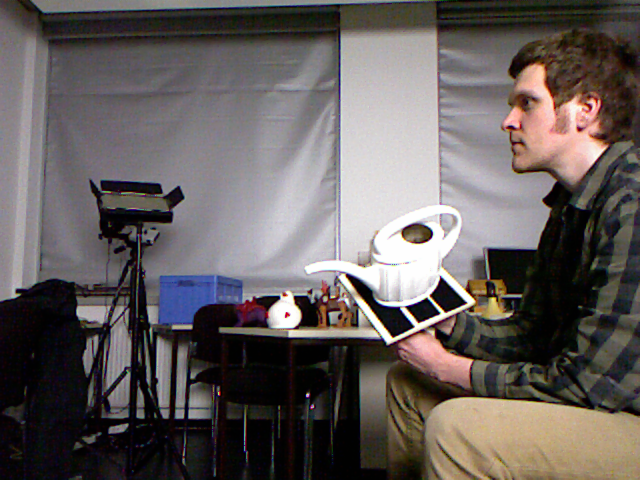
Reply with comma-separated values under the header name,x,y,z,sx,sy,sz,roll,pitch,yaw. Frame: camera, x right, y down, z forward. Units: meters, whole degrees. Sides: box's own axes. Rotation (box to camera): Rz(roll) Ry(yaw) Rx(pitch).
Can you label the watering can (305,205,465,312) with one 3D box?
name,x,y,z,sx,sy,sz,roll,pitch,yaw
watering can,0.133,0.050,0.994,0.351,0.219,0.106,-22,44,-17
